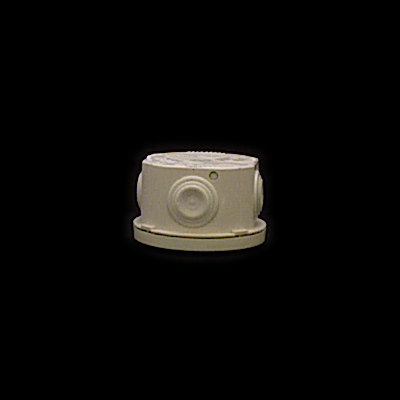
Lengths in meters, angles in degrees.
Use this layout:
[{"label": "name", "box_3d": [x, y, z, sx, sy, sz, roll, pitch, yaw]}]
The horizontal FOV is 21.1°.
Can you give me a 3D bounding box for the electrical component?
[{"label": "electrical component", "box_3d": [0.000, 0.000, 0.646, 0.080, 0.051, 0.079, 2, 10, 0]}]
